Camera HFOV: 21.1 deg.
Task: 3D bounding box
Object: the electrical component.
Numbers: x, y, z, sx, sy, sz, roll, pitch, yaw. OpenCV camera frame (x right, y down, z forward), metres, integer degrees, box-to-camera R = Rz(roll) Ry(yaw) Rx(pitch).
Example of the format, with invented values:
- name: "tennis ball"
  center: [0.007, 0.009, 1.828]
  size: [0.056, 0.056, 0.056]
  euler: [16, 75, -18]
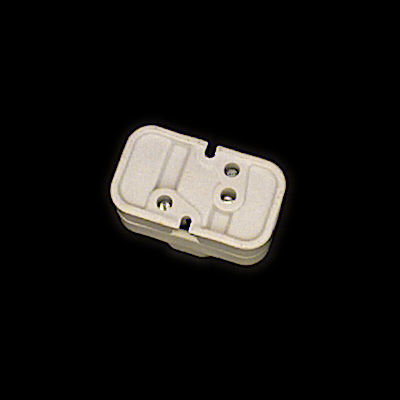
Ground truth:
- name: "electrical component"
  center: [0.000, 0.000, 0.636]
  size: [0.095, 0.054, 0.059]
  euler: [17, -15, 5]
